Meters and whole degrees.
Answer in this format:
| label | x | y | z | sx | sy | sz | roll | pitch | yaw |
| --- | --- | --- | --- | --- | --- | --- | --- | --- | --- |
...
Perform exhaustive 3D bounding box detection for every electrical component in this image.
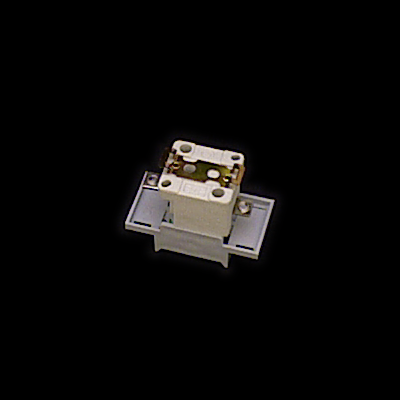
| label | x | y | z | sx | sy | sz | roll | pitch | yaw |
| --- | --- | --- | --- | --- | --- | --- | --- | --- | --- |
| electrical component | 0.000 | 0.000 | 0.628 | 0.081 | 0.042 | 0.064 | 12 | -37 | 9 |
